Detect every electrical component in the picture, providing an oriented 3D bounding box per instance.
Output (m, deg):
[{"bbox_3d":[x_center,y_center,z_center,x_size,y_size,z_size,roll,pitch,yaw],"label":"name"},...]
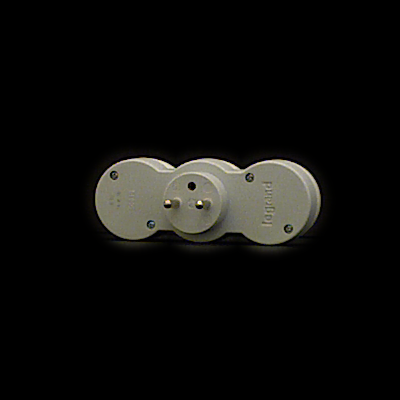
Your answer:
[{"bbox_3d":[0.000,0.000,0.654,0.137,0.052,0.074,2,3,15],"label":"electrical component"}]
